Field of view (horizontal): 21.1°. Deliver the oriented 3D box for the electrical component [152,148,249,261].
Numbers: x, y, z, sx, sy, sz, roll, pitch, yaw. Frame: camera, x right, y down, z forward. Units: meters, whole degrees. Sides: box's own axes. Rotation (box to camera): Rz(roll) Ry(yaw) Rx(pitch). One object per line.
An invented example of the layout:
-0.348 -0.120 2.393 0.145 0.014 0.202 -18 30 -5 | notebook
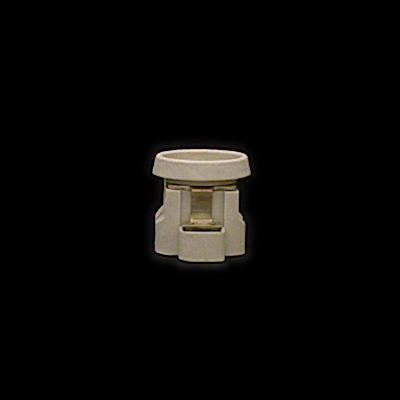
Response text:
0.000 0.000 0.643 0.058 0.057 0.078 1 11 -3 | electrical component
